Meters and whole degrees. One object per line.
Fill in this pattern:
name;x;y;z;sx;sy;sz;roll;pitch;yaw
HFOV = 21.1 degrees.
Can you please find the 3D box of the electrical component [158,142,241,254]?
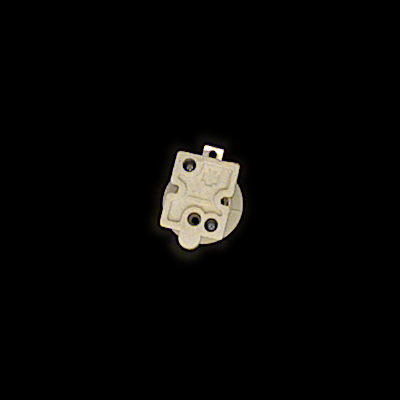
electrical component;0.000;0.000;0.638;0.048;0.067;0.055;14;-6;3
